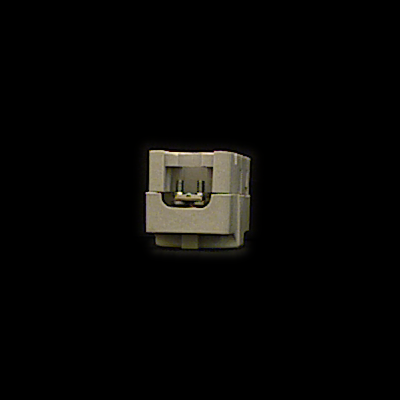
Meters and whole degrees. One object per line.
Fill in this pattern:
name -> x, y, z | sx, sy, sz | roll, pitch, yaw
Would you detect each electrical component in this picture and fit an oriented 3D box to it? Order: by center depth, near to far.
electrical component -> 0.000, 0.000, 0.656 | 0.050, 0.056, 0.090 | 2, 2, 10
